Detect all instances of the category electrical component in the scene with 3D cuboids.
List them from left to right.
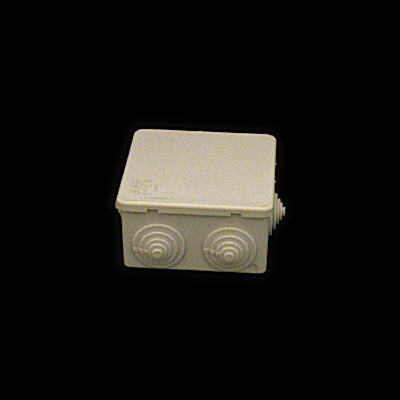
[{"bbox_3d":[0.000,0.000,0.643,0.099,0.049,0.099,3,32,3],"label":"electrical component"}]
